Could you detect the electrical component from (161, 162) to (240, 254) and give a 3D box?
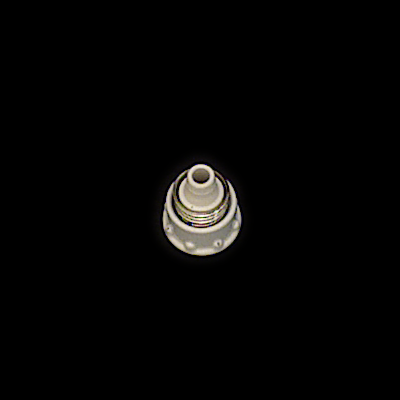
[{"bbox_3d":[0.000,0.000,0.634,0.048,0.048,0.062,0,-28,0],"label":"electrical component"}]
